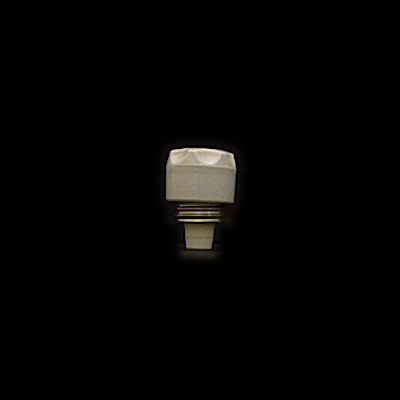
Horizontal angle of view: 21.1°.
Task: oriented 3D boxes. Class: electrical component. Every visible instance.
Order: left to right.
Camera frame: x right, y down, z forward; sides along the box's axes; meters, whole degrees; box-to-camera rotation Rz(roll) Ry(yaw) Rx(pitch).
[{"bbox_3d":[0.000,0.000,0.657,0.043,0.062,0.043,2,1,0],"label":"electrical component"}]
